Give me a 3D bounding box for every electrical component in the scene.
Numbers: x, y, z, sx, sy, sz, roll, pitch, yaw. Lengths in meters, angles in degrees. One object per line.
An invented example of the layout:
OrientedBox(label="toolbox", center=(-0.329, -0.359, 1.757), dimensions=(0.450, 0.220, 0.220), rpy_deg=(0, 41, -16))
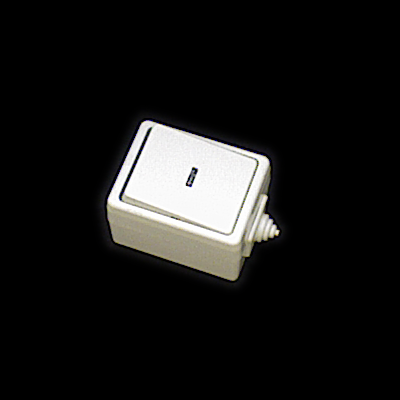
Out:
OrientedBox(label="electrical component", center=(0.000, 0.000, 0.626), dimensions=(0.096, 0.062, 0.061), rpy_deg=(18, -26, 9))
